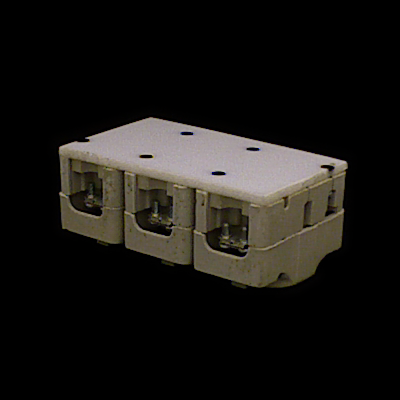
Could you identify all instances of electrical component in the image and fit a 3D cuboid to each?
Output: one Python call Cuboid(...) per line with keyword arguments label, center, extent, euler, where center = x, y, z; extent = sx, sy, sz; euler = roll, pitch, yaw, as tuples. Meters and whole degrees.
Cuboid(label="electrical component", center=(0.000, 0.000, 0.645), extent=(0.148, 0.063, 0.089), euler=(15, 24, 34))
